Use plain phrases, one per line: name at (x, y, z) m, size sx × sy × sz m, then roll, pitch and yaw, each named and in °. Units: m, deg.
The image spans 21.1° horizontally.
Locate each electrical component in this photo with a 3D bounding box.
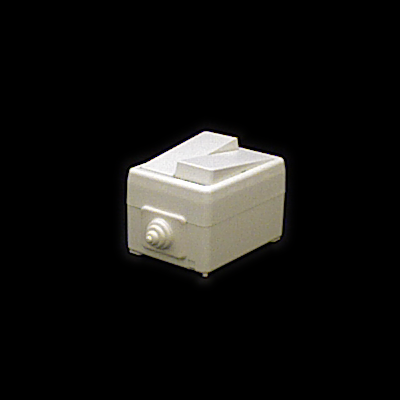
electrical component at (0.000, 0.000, 0.637) m, size 0.061 × 0.061 × 0.096 m, roll 16°, pitch 25°, yaw 35°
